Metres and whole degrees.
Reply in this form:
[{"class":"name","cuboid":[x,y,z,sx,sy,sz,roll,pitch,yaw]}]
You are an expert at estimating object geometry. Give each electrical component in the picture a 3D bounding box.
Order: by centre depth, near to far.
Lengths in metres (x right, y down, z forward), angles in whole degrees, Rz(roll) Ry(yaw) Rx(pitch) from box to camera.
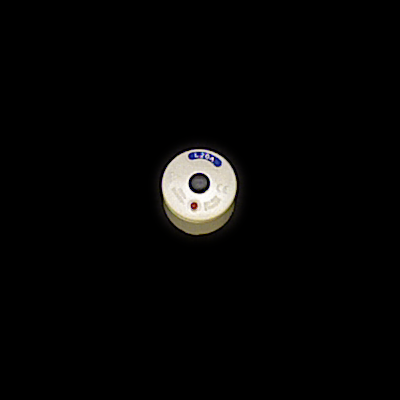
[{"class":"electrical component","cuboid":[0.000,0.000,0.616,0.040,0.040,0.078,0,-16,0]}]
